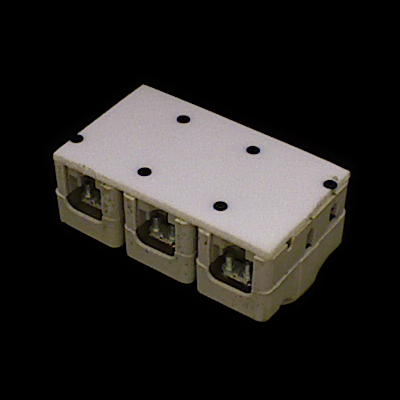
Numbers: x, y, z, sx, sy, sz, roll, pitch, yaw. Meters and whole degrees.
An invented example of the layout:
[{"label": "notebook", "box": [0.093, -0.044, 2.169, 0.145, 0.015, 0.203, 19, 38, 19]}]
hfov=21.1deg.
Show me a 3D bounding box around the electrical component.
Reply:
[{"label": "electrical component", "box": [0.000, 0.000, 0.636, 0.148, 0.063, 0.089, 25, 47, 25]}]
